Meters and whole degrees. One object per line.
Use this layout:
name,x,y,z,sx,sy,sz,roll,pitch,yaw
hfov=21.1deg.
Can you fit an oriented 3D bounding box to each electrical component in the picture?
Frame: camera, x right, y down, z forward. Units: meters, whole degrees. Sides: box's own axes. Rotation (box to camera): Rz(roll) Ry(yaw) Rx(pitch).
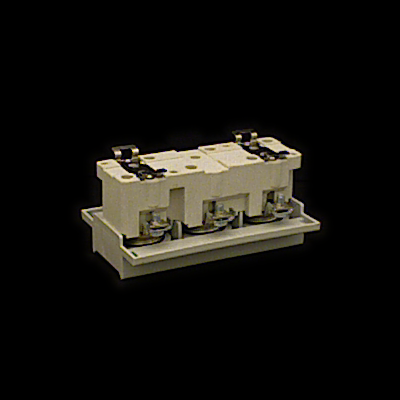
electrical component,0.000,0.000,0.643,0.122,0.064,0.077,-10,25,-26
